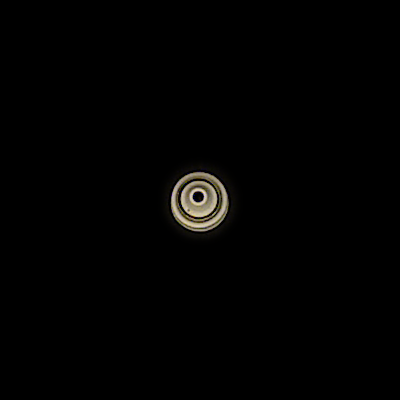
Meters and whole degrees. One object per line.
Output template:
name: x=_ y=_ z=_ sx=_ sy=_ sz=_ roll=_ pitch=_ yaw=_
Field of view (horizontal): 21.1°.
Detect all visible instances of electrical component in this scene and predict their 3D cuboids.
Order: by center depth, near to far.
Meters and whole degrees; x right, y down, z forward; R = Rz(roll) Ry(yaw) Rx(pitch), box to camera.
electrical component: x=0.000 y=0.000 z=0.638 sx=0.035 sy=0.035 sz=0.061 roll=0 pitch=-4 yaw=1
